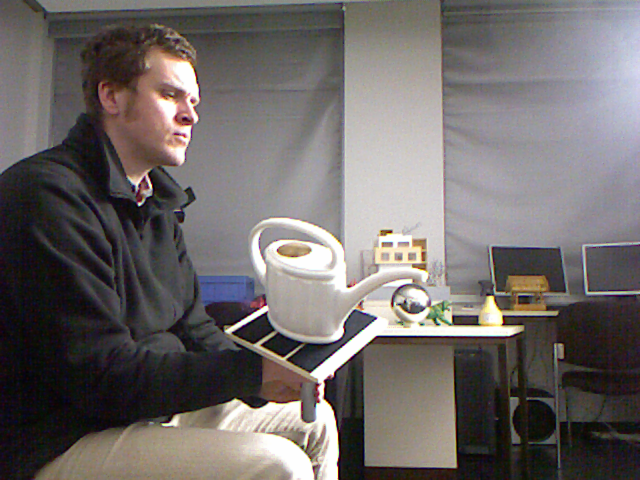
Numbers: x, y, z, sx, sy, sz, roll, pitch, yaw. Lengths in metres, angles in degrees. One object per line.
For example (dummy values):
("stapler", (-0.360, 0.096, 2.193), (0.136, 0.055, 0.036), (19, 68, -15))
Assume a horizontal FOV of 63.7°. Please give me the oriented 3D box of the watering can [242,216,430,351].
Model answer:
("watering can", (0.008, 0.083, 0.822), (0.350, 0.220, 0.106), (18, 34, 34))
